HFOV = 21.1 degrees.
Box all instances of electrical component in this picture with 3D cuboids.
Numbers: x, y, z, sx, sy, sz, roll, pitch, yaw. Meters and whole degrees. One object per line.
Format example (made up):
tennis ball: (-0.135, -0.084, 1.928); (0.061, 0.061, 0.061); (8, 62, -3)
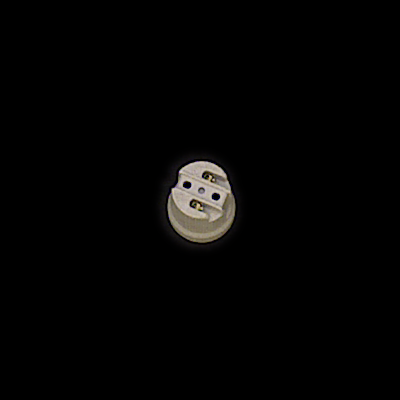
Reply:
electrical component: (0.000, 0.000, 0.633); (0.040, 0.040, 0.046); (0, -16, 1)
